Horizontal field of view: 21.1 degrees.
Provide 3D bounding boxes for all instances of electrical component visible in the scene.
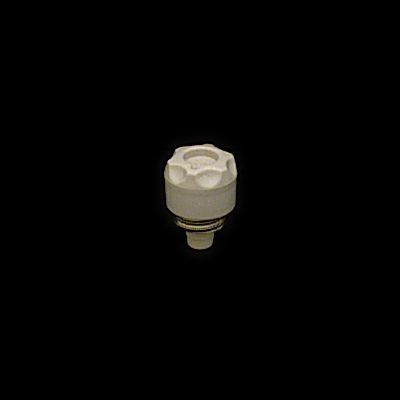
[{"bbox_3d":[0.000,0.000,0.642,0.043,0.063,0.043,1,31,0],"label":"electrical component"}]
